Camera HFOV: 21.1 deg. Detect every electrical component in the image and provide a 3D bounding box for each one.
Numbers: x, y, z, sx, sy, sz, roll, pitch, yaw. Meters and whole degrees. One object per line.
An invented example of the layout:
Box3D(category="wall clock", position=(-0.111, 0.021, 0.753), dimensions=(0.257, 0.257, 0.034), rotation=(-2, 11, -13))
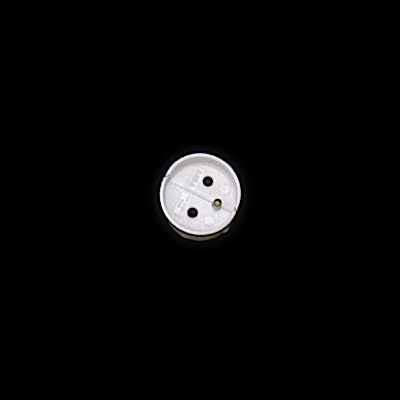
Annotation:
Box3D(category="electrical component", position=(0.000, 0.000, 0.616), dimensions=(0.043, 0.043, 0.080), rotation=(0, -5, 0))
